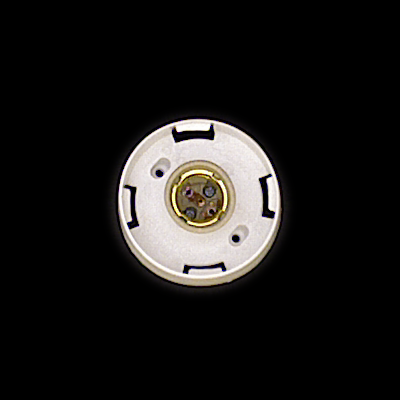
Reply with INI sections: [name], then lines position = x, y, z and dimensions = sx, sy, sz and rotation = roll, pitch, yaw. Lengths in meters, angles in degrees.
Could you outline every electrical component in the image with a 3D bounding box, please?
[electrical component]
position = 0.000, 0.000, 0.625
dimensions = 0.099, 0.099, 0.064
rotation = 0, -7, 0
